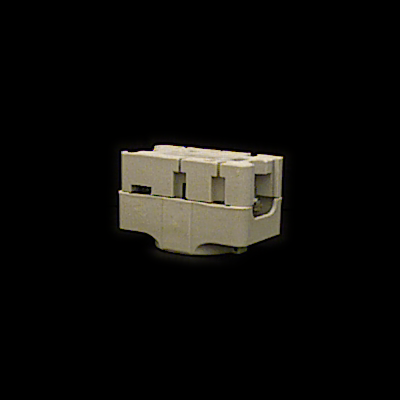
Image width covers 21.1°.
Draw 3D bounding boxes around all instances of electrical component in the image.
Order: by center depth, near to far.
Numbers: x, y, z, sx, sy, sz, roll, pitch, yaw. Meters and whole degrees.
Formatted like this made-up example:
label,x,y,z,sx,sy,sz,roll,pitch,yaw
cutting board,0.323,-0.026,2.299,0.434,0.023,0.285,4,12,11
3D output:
label,x,y,z,sx,sy,sz,roll,pitch,yaw
electrical component,0.000,0.000,0.652,0.088,0.056,0.050,9,13,30
